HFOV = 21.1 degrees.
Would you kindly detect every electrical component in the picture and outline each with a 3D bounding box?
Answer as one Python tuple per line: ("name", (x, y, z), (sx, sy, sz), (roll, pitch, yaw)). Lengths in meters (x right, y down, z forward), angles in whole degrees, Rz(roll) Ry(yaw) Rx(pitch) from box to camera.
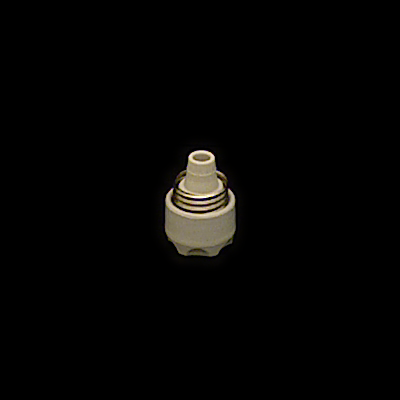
("electrical component", (0.000, 0.000, 0.640), (0.043, 0.063, 0.043), (1, 34, 0))
